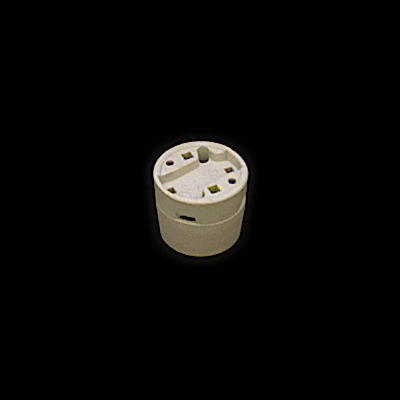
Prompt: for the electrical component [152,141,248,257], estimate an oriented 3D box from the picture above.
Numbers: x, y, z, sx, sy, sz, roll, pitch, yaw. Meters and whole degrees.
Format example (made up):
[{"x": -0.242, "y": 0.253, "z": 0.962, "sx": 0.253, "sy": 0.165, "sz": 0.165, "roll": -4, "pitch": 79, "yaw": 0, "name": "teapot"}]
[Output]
[{"x": 0.000, "y": 0.000, "z": 0.635, "sx": 0.055, "sy": 0.047, "sz": 0.055, "roll": 1, "pitch": 42, "yaw": 0, "name": "electrical component"}]
